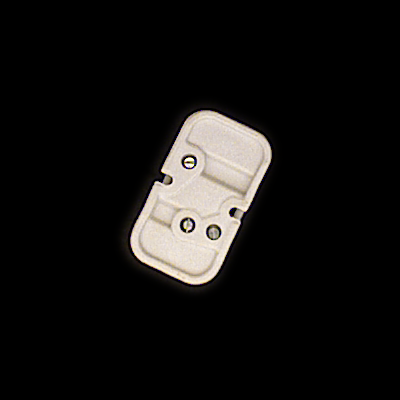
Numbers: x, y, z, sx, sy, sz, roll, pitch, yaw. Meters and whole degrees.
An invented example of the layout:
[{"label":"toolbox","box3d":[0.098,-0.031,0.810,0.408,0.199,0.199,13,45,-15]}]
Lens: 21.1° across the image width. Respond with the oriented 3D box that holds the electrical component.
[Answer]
[{"label":"electrical component","box3d":[0.000,0.000,0.637,0.054,0.095,0.059,25,-6,3]}]
